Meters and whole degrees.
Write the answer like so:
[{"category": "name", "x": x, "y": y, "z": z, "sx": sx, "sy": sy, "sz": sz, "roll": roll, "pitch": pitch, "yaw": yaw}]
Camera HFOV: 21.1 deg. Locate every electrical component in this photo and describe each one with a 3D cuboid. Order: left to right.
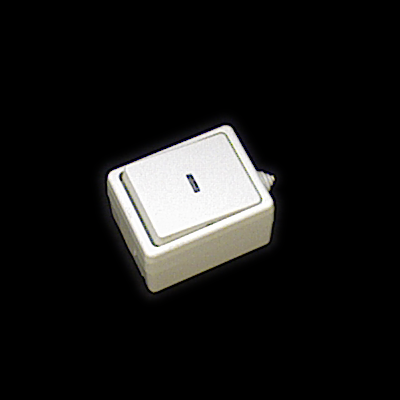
[{"category": "electrical component", "x": 0.000, "y": 0.000, "z": 0.626, "sx": 0.096, "sy": 0.062, "sz": 0.061, "roll": -23, "pitch": -25, "yaw": -11}]
